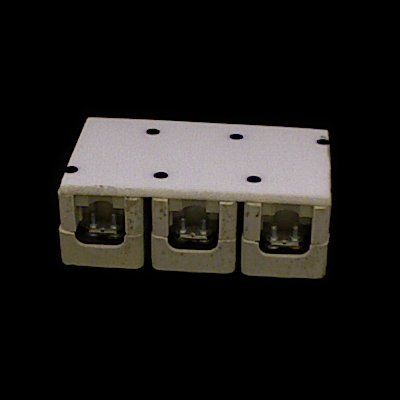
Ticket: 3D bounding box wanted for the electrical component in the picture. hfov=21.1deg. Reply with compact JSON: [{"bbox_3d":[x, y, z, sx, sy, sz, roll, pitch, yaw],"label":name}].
[{"bbox_3d":[0.000,0.000,0.639,0.150,0.063,0.087,3,31,4],"label":"electrical component"}]
